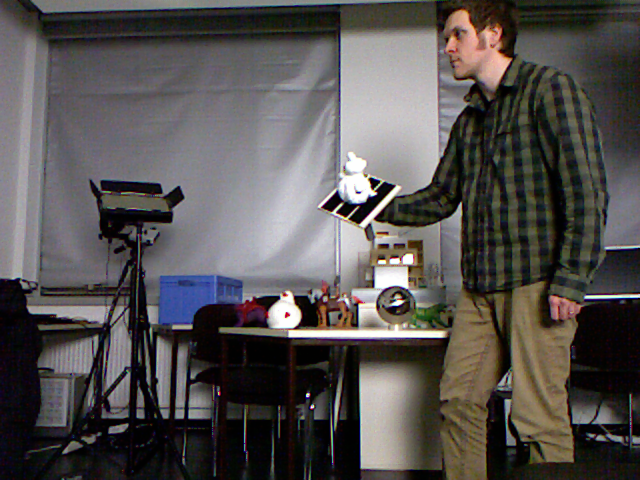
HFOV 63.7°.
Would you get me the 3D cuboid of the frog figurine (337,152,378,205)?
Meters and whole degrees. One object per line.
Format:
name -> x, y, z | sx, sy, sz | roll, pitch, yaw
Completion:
frog figurine -> 0.109, -0.197, 1.662 | 0.123, 0.156, 0.140 | -33, 47, -11
